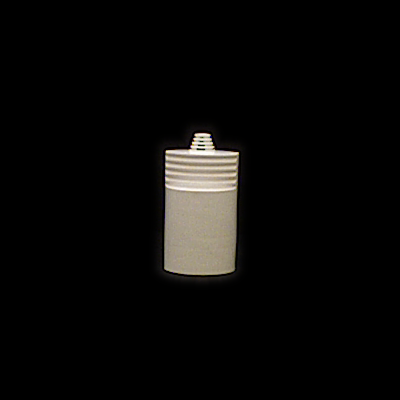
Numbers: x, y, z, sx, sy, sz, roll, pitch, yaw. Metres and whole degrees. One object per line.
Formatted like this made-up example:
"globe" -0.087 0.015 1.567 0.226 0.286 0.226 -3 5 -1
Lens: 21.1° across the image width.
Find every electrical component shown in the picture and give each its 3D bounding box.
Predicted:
"electrical component" 0.000 0.000 0.642 0.043 0.081 0.043 1 11 0
